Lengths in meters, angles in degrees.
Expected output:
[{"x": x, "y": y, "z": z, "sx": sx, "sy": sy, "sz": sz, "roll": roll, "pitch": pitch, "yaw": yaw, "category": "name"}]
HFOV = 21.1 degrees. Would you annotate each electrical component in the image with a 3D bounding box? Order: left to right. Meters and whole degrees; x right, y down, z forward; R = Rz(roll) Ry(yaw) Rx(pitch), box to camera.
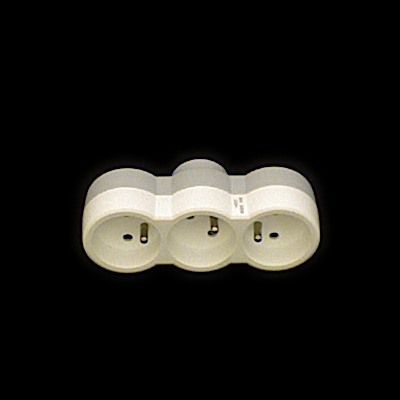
[{"x": 0.000, "y": 0.000, "z": 0.643, "sx": 0.138, "sy": 0.053, "sz": 0.073, "roll": -1, "pitch": 41, "yaw": -2, "category": "electrical component"}]
